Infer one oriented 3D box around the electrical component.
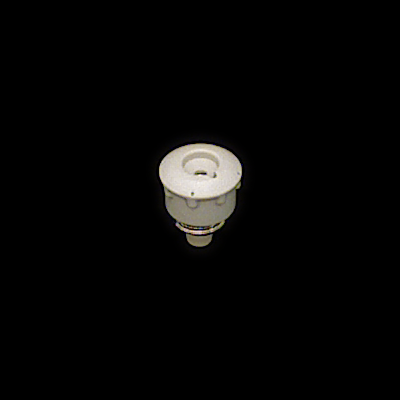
[{"bbox_3d":[0.000,0.000,0.639,0.048,0.062,0.047,1,43,0],"label":"electrical component"}]
